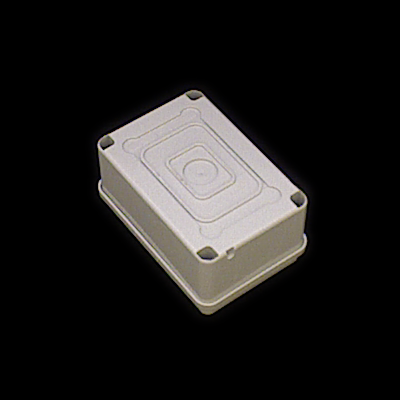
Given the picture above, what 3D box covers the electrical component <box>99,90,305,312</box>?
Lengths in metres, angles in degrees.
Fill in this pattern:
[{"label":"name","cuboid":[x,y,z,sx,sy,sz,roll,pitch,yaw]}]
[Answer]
[{"label":"electrical component","cuboid":[0.000,0.000,0.629,0.078,0.112,0.057,-30,-32,-22]}]
